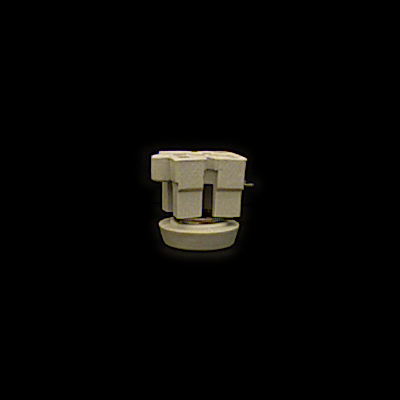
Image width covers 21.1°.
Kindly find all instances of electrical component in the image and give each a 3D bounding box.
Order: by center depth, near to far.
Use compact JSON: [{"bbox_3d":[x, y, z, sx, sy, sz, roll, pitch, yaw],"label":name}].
[{"bbox_3d":[0.000,0.000,0.650,0.067,0.056,0.048,-2,11,-19],"label":"electrical component"}]
